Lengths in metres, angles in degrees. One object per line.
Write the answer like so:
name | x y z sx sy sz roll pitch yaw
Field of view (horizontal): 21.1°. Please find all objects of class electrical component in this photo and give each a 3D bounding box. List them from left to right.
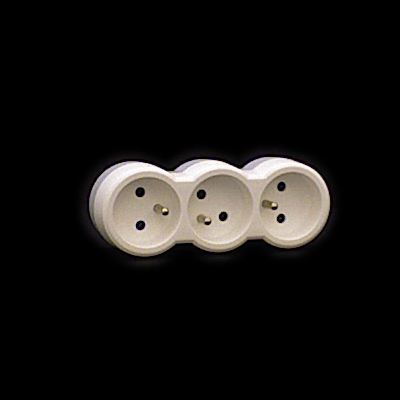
electrical component | 0.000 0.000 0.644 0.138 0.052 0.073 -3 9 -18
